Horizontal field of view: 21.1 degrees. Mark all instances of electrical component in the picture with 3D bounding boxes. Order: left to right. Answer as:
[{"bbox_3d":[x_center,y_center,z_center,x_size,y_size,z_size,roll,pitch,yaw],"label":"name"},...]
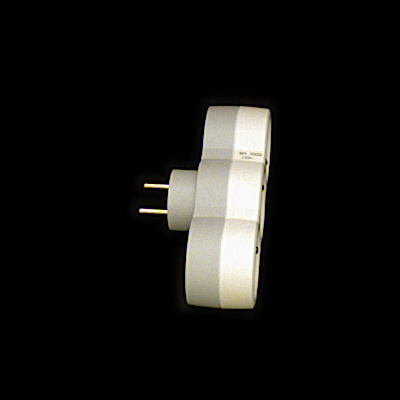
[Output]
[{"bbox_3d":[0.000,0.000,0.640,0.073,0.137,0.052,4,-37,5],"label":"electrical component"}]
